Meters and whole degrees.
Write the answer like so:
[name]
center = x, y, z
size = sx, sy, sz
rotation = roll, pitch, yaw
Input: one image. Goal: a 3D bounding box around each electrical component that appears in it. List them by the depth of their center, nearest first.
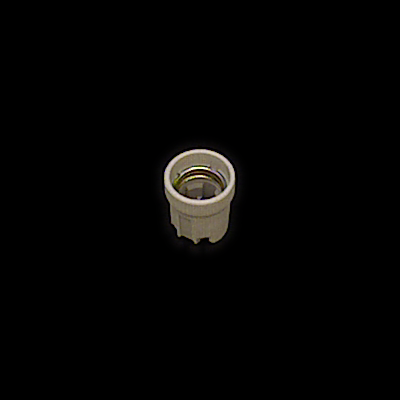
[electrical component]
center = 0.000, 0.000, 0.629
size = 0.040, 0.040, 0.046
rotation = 0, -38, -1
